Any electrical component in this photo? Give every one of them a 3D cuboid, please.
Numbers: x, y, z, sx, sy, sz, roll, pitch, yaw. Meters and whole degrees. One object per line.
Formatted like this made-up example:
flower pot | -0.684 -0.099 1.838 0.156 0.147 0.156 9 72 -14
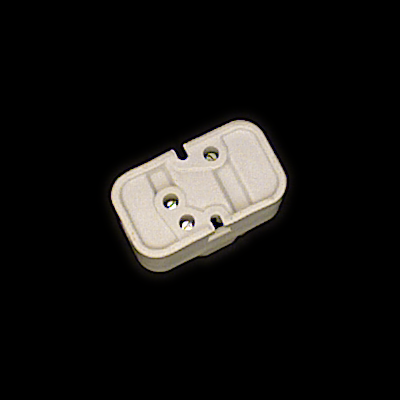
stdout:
electrical component | 0.000 0.000 0.635 0.095 0.054 0.059 -26 -14 -8
